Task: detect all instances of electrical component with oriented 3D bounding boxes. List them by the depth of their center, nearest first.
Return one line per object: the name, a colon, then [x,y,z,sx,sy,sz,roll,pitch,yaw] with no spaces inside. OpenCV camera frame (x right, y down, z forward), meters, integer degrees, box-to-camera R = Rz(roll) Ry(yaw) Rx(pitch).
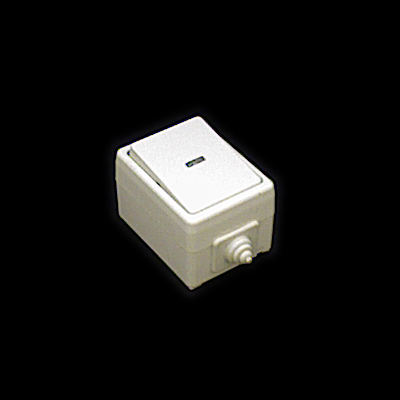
electrical component: [0.000,0.000,0.629,0.061,0.061,0.095,-25,48,-26]
